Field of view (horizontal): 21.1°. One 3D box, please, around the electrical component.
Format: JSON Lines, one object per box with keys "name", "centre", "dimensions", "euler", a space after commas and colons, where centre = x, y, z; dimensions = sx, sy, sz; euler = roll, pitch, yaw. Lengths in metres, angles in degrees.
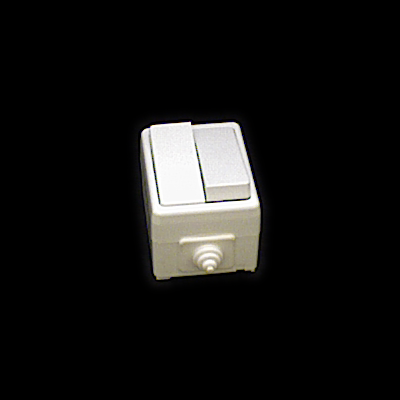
{"name": "electrical component", "centre": [0.000, 0.000, 0.629], "dimensions": [0.062, 0.061, 0.095], "euler": [-4, 42, -6]}
